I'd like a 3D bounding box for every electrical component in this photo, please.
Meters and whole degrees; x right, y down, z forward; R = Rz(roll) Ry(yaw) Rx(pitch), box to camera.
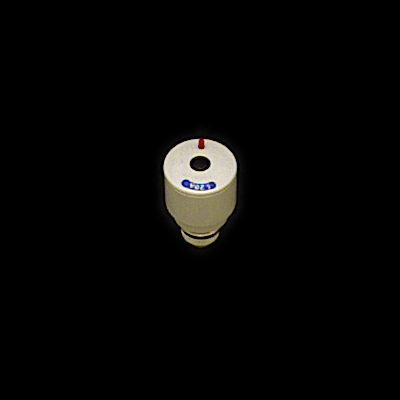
[{"bbox_3d":[0.000,0.000,0.622,0.040,0.040,0.079,0,-39,0],"label":"electrical component"}]
